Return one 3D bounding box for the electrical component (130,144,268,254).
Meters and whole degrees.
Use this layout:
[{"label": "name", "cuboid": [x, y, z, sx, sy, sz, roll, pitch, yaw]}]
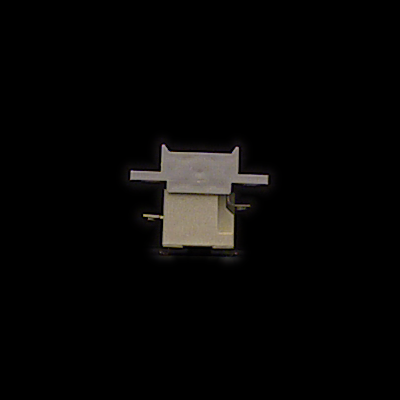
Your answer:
[{"label": "electrical component", "cuboid": [0.000, 0.000, 0.649, 0.081, 0.064, 0.042, 2, 2, 1]}]
